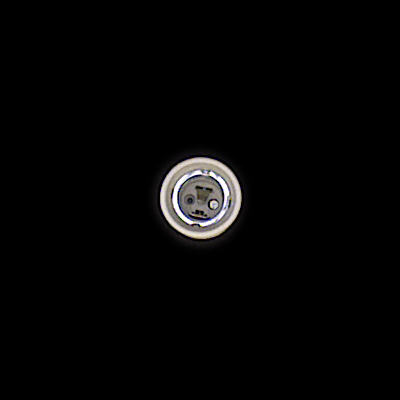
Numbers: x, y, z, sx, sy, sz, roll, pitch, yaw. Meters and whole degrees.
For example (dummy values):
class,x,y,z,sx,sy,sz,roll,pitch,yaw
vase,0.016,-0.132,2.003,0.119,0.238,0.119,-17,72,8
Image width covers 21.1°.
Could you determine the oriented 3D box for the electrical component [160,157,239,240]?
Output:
class,x,y,z,sx,sy,sz,roll,pitch,yaw
electrical component,0.000,0.000,0.629,0.045,0.045,0.055,0,-5,1
